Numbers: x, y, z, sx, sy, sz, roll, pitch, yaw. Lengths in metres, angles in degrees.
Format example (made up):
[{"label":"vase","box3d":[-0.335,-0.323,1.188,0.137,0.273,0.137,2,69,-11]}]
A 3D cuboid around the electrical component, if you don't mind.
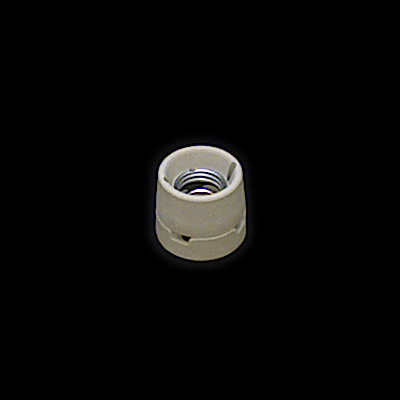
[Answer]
[{"label":"electrical component","box3d":[0.000,0.000,0.636,0.055,0.047,0.055,0,42,0]}]
